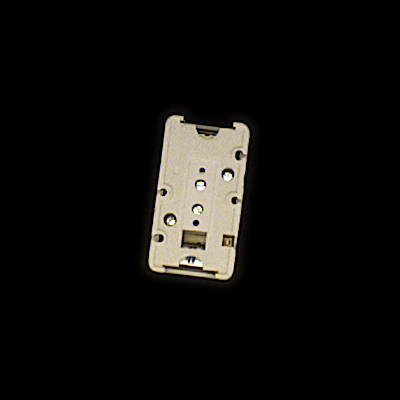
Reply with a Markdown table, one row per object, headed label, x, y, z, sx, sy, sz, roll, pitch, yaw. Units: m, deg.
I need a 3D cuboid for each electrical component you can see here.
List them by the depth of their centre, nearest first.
| label | x | y | z | sx | sy | sz | roll | pitch | yaw |
| --- | --- | --- | --- | --- | --- | --- | --- | --- | --- |
| electrical component | 0.000 | 0.000 | 0.637 | 0.050 | 0.090 | 0.055 | 7 | -5 | 0 |
